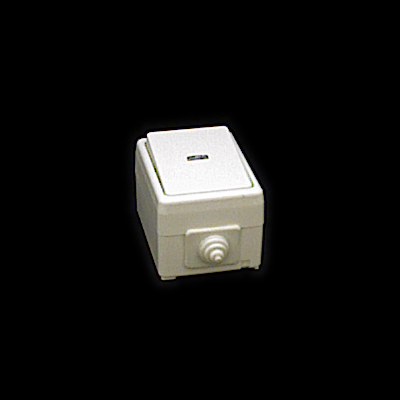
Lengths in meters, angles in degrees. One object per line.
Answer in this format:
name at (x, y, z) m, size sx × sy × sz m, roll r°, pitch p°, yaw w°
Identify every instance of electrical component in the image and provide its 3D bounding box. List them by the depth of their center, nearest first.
electrical component at (0.000, 0.000, 0.632) m, size 0.062 × 0.061 × 0.095 m, roll -6°, pitch 32°, yaw -11°
